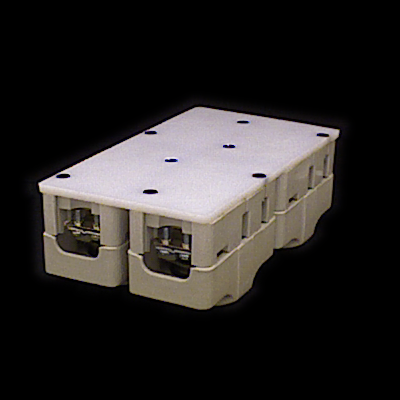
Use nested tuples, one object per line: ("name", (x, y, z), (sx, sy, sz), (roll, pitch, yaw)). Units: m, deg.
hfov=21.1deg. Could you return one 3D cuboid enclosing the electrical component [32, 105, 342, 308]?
("electrical component", (0.000, 0.000, 0.638), (0.105, 0.061, 0.185), (11, 23, 26))
